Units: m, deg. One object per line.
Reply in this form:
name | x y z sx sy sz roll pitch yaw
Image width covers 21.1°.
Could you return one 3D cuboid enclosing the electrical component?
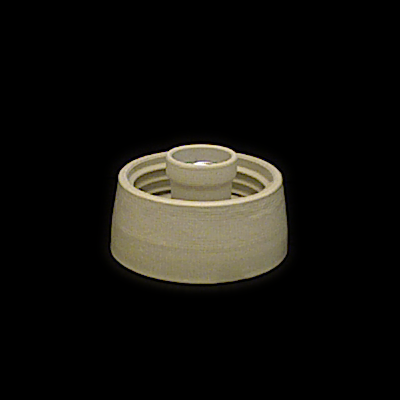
electrical component | 0.000 0.000 0.645 0.108 0.061 0.106 1 21 0
